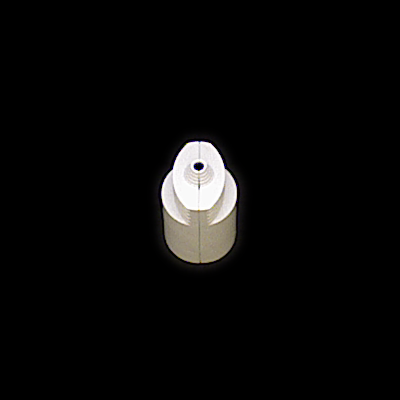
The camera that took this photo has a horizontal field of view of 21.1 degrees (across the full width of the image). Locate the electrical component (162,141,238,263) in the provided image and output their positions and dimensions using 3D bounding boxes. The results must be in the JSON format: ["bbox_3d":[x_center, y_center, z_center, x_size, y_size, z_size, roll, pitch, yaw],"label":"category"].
[{"bbox_3d":[0.000,0.000,0.618,0.043,0.043,0.081,0,-28,0],"label":"electrical component"}]
